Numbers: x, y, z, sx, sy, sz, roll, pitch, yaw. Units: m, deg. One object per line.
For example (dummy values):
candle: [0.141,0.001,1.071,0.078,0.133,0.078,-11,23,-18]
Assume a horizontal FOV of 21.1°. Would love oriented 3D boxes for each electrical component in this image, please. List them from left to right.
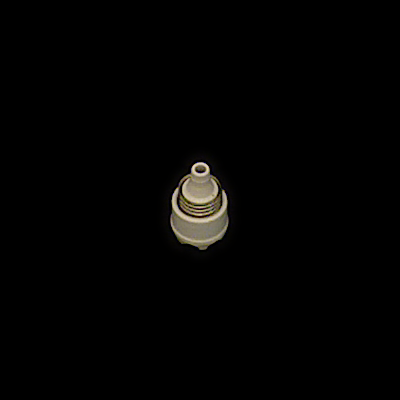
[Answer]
electrical component: [0.000,0.000,0.640,0.035,0.035,0.062,0,-37,-2]
